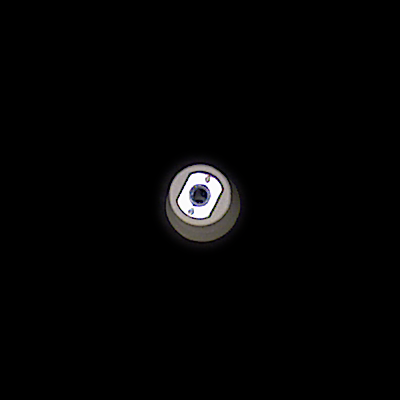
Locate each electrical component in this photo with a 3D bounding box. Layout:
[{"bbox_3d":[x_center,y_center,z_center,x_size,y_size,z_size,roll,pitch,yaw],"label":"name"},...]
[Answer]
[{"bbox_3d":[0.000,0.000,0.626,0.044,0.044,0.065,0,-6,2],"label":"electrical component"}]
